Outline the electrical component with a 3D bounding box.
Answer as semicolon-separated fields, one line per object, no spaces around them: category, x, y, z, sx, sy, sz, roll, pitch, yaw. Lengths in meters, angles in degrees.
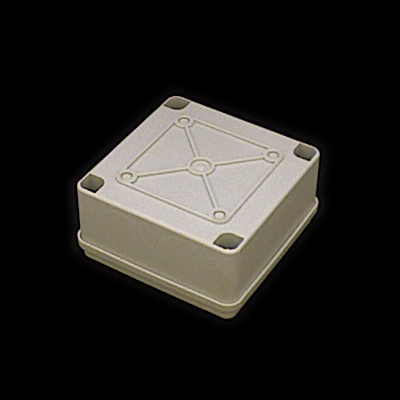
electrical component;0.000;0.000;0.630;0.108;0.056;0.108;23;47;22
